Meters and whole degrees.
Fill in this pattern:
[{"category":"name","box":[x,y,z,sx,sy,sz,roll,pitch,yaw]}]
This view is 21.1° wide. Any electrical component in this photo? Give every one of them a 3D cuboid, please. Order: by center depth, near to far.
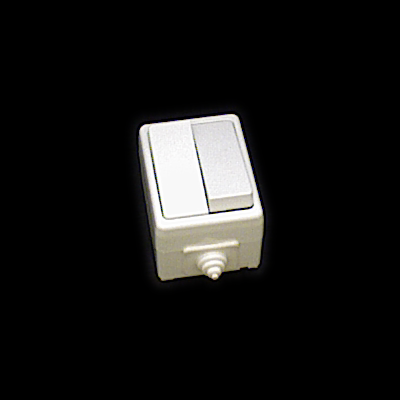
[{"category":"electrical component","box":[0.000,0.000,0.626,0.062,0.096,0.061,-7,-38,-6]}]
